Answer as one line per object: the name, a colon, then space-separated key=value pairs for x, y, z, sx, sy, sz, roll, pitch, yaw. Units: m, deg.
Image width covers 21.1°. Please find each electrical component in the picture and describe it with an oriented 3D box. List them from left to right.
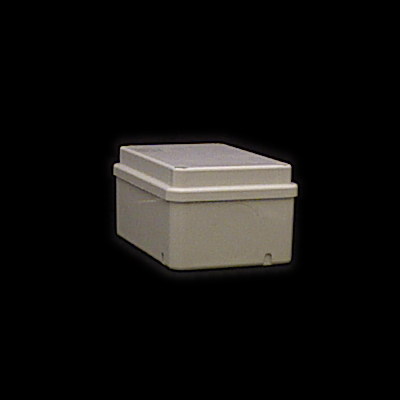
electrical component: x=0.000 y=0.000 z=0.643 sx=0.078 sy=0.057 sz=0.112 roll=-3 pitch=11 yaw=-22
